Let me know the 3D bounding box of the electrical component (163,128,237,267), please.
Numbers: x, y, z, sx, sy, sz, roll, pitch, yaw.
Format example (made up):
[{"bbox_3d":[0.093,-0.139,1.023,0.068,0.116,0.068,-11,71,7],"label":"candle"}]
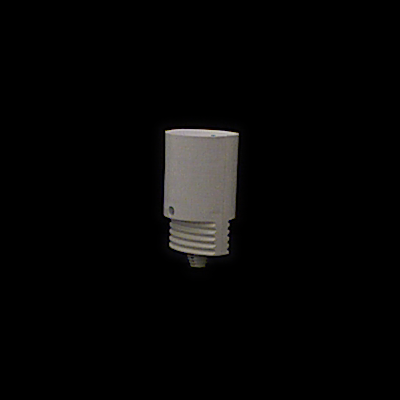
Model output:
[{"bbox_3d":[0.000,0.000,0.642,0.043,0.082,0.042,1,12,0],"label":"electrical component"}]
